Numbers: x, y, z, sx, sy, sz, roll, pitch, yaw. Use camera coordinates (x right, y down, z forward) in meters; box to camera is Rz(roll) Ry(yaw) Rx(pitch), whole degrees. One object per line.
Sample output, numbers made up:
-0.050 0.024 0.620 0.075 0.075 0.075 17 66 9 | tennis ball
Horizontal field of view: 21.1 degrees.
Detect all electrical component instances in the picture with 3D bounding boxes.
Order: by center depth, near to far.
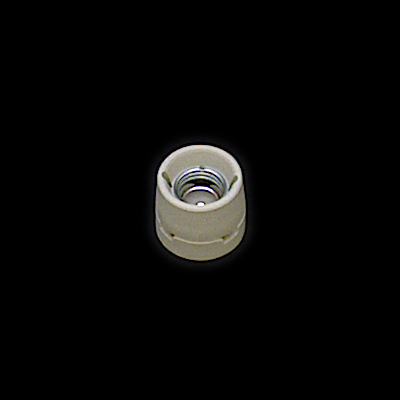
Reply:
0.000 0.000 0.634 0.055 0.055 0.047 0 -38 1 | electrical component
